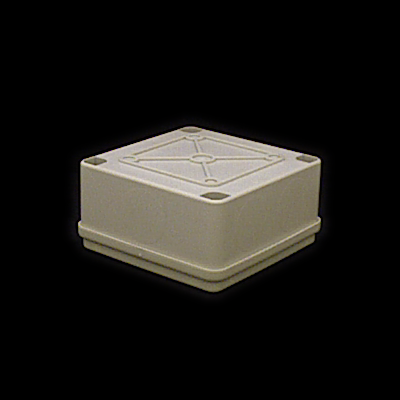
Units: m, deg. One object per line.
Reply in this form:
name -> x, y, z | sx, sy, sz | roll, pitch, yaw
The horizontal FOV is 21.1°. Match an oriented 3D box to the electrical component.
electrical component -> 0.000, 0.000, 0.641 | 0.108, 0.057, 0.108 | 17, 26, 35
